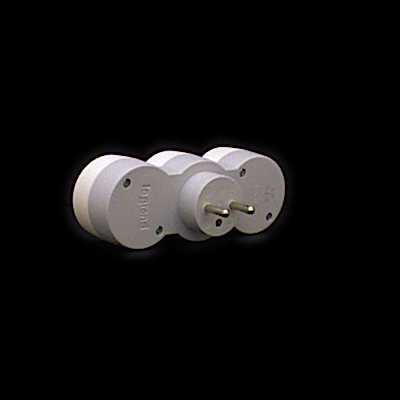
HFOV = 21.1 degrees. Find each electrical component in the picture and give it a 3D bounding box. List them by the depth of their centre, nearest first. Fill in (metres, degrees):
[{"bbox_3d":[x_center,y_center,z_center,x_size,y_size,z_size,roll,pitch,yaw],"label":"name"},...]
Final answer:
[{"bbox_3d":[0.000,0.000,0.648,0.138,0.052,0.073,-6,15,-38],"label":"electrical component"}]
